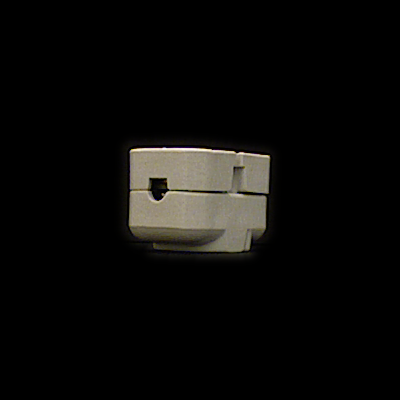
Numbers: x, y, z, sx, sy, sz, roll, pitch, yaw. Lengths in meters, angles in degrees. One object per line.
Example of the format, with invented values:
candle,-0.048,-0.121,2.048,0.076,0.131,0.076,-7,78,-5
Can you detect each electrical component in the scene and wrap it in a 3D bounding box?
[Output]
electrical component,0.000,0.000,0.657,0.053,0.059,0.096,2,0,32
